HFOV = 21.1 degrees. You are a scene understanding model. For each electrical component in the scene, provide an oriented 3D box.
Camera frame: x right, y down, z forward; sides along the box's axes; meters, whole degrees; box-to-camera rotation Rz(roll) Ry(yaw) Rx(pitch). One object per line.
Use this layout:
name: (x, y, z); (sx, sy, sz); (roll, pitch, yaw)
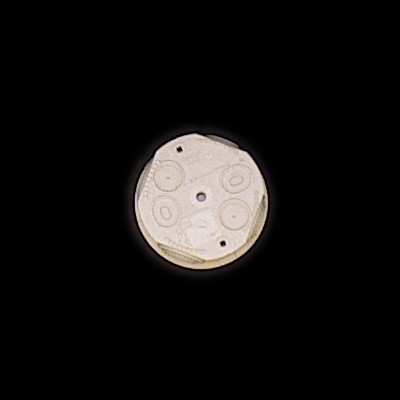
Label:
electrical component: (0.000, 0.000, 0.633); (0.080, 0.080, 0.050); (0, -6, 0)
